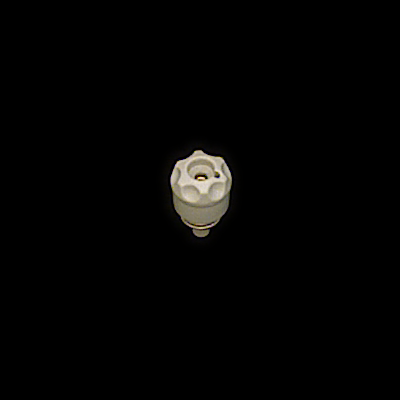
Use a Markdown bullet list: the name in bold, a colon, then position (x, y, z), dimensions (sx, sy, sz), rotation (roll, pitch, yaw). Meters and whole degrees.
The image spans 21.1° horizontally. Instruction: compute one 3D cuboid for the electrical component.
- **electrical component**: position (0.000, 0.000, 0.634), dimensions (0.035, 0.035, 0.061), rotation (0, -37, 0)
